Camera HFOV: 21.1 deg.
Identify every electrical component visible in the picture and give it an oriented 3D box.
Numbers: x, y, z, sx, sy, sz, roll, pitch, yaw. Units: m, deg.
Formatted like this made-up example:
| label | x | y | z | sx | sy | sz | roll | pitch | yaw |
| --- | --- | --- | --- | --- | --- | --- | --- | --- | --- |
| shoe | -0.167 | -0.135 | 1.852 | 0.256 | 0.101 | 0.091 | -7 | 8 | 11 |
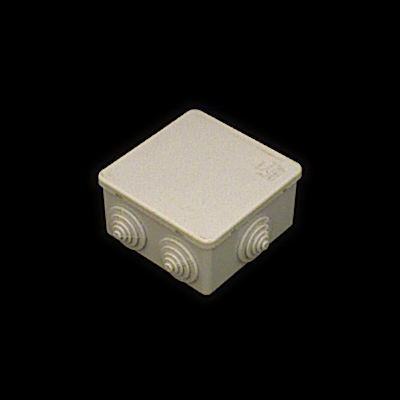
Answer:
| label | x | y | z | sx | sy | sz | roll | pitch | yaw |
| --- | --- | --- | --- | --- | --- | --- | --- | --- | --- |
| electrical component | 0.000 | 0.000 | 0.643 | 0.098 | 0.049 | 0.100 | 31 | 50 | 28 |
